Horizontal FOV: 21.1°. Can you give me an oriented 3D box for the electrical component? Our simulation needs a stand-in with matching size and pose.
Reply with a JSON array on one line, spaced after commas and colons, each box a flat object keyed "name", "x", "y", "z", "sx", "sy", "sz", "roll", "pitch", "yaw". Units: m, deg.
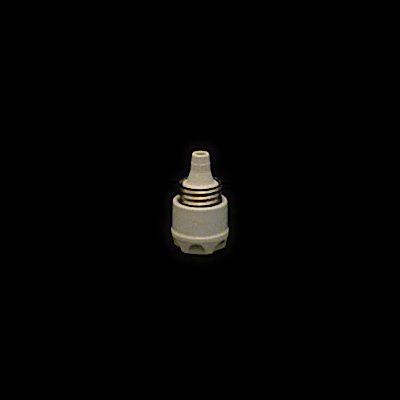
[{"name": "electrical component", "x": 0.000, "y": 0.000, "z": 0.650, "sx": 0.035, "sy": 0.062, "sz": 0.035, "roll": 1, "pitch": 21, "yaw": 0}]
